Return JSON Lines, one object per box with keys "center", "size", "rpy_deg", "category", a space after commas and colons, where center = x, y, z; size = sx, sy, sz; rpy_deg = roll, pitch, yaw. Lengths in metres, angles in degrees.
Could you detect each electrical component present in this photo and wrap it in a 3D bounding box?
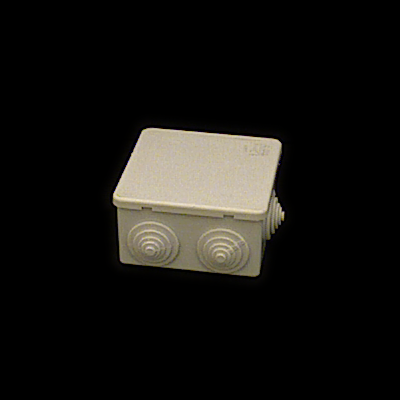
{"center": [0.000, 0.000, 0.646], "size": [0.099, 0.049, 0.099], "rpy_deg": [6, 32, 7], "category": "electrical component"}
